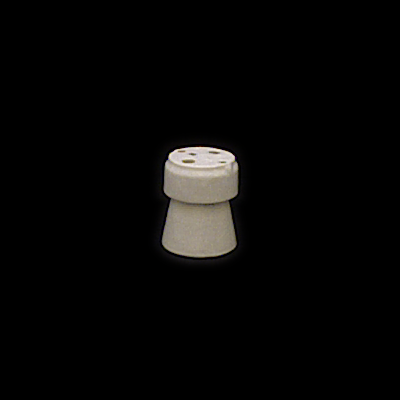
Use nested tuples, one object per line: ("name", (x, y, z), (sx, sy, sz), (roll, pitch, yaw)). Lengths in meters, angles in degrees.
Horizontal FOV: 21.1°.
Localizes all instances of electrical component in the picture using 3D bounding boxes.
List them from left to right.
("electrical component", (0.000, 0.000, 0.641), (0.045, 0.056, 0.044), (2, 21, 0))
